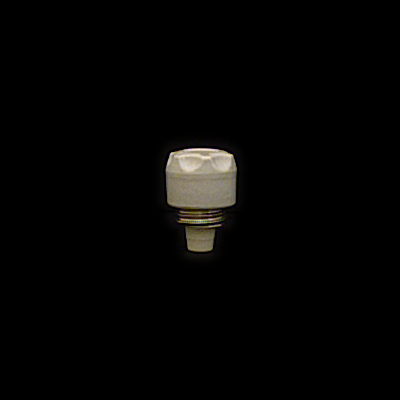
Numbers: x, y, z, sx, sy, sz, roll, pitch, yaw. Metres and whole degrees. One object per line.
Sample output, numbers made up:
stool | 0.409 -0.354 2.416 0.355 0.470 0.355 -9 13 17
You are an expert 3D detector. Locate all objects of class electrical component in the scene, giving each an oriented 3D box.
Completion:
electrical component | 0.000 0.000 0.652 0.043 0.062 0.043 1 11 0
